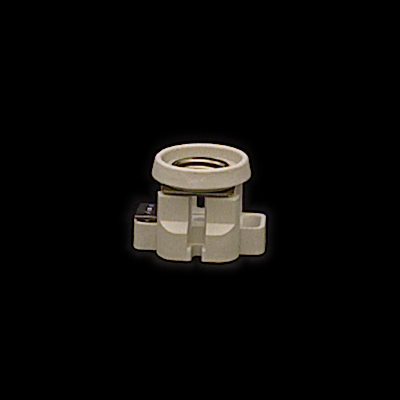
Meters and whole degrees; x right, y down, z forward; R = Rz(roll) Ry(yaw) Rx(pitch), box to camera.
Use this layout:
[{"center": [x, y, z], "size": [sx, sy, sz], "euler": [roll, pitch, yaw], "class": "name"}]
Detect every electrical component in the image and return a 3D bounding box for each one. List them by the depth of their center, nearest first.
[{"center": [0.000, 0.000, 0.638], "size": [0.078, 0.057, 0.057], "euler": [3, 21, 4], "class": "electrical component"}]
